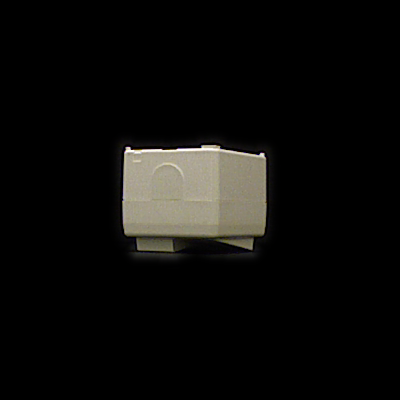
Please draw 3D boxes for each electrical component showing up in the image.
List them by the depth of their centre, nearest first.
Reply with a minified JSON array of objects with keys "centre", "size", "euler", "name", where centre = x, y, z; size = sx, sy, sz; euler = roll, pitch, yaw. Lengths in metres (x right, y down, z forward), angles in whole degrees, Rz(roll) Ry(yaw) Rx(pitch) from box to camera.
[{"centre":[0.001,0.000,0.658],"size":[0.061,0.061,0.096],"euler":[1,0,25],"name":"electrical component"}]
